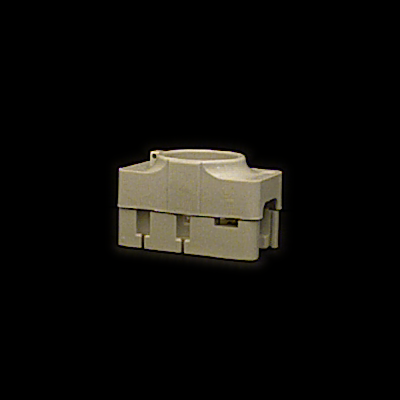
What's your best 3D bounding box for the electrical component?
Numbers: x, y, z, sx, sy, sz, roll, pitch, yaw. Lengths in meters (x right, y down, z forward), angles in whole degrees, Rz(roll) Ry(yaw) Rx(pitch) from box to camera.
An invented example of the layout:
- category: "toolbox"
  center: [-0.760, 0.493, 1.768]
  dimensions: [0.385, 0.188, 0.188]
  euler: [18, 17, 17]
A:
- category: "electrical component"
  center: [0.000, 0.000, 0.652]
  dimensions: [0.089, 0.056, 0.050]
  euler: [6, 12, 21]
